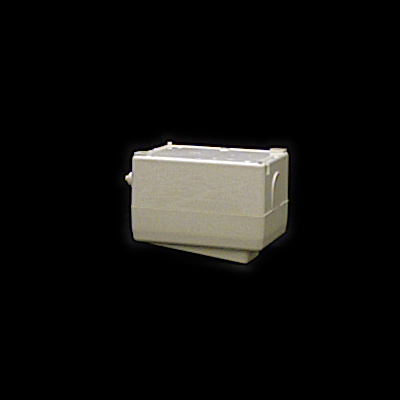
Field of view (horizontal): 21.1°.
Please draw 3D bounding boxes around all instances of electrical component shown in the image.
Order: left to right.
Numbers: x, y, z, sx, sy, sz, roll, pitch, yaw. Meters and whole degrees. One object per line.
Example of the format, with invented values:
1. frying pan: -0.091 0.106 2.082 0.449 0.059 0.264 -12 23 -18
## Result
1. electrical component: 0.000 0.000 0.644 0.096 0.061 0.061 5 12 17
